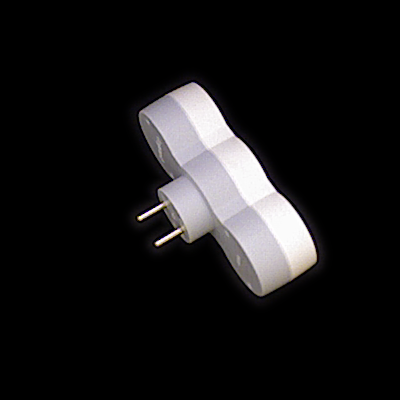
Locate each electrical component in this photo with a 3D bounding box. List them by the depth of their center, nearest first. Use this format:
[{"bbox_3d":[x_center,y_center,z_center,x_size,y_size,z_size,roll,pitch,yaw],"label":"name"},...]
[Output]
[{"bbox_3d":[0.000,0.000,0.629,0.074,0.138,0.052,-30,-22,-13],"label":"electrical component"}]
